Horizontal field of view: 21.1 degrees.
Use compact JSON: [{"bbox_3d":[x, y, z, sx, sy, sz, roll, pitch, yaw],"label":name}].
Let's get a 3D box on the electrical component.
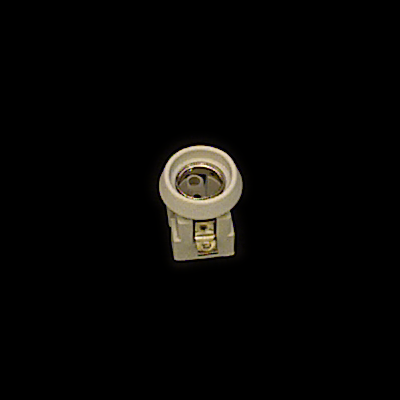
[{"bbox_3d":[0.000,0.000,0.637,0.048,0.066,0.056,-8,-36,-4],"label":"electrical component"}]
